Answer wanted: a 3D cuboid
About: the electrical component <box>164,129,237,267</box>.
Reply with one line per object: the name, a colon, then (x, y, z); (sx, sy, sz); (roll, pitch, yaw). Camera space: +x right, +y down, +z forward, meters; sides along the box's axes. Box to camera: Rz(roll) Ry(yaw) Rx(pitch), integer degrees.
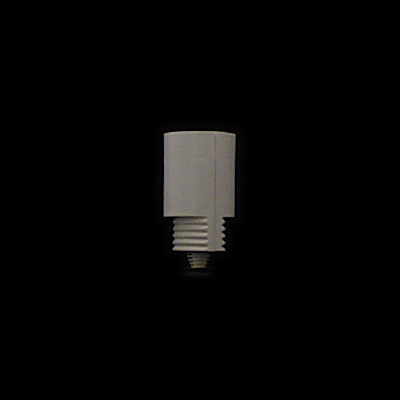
electrical component: (0.000, 0.000, 0.649); (0.043, 0.081, 0.043); (2, 0, 0)
